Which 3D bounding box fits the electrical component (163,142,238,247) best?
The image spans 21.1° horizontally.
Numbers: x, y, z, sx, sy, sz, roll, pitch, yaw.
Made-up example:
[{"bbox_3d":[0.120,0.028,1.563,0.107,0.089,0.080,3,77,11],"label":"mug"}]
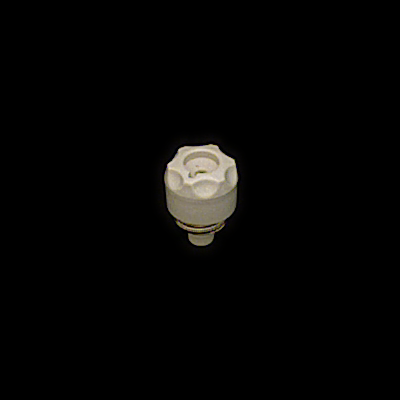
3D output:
[{"bbox_3d":[0.000,0.000,0.639,0.043,0.062,0.043,1,42,0],"label":"electrical component"}]
